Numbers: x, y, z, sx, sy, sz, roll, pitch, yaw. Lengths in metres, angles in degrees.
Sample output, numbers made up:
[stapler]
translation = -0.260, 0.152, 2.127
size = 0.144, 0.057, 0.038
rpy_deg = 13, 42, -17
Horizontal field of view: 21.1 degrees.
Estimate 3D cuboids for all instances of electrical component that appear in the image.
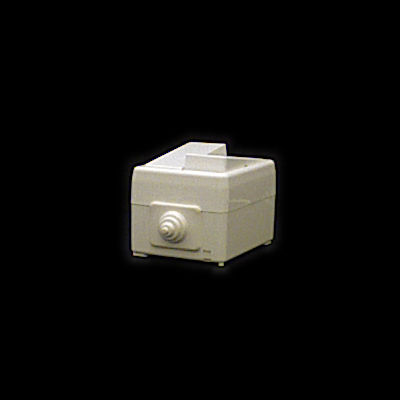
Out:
[electrical component]
translation = 0.000, 0.000, 0.642
size = 0.061, 0.061, 0.096
rpy_deg = 6, 11, 25
